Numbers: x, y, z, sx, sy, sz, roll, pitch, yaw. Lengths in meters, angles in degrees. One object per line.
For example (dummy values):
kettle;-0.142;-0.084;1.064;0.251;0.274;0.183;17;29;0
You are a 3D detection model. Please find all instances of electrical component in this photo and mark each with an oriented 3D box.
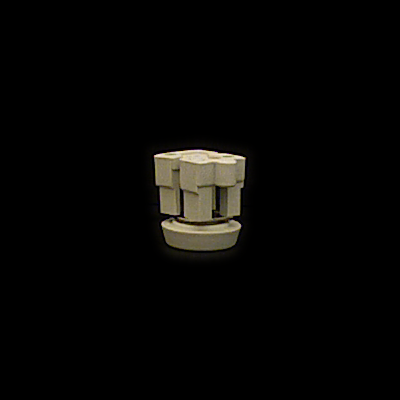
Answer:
electrical component;0.000;0.000;0.651;0.049;0.056;0.065;-10;15;-38
